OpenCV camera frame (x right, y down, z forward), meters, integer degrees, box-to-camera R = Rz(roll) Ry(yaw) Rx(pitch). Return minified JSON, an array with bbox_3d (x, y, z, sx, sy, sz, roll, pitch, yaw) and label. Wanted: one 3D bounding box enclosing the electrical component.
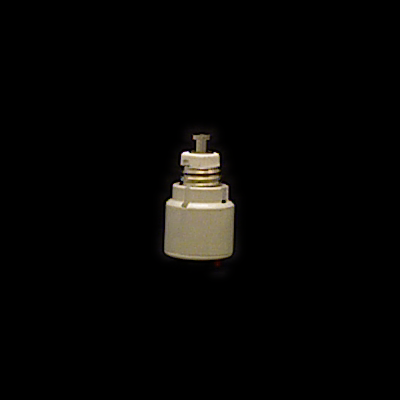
[{"bbox_3d":[0.000,0.000,0.641,0.040,0.079,0.040,1,10,0],"label":"electrical component"}]
